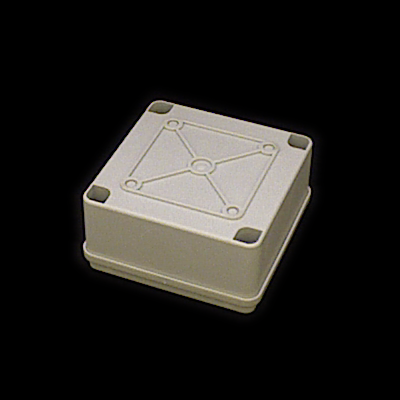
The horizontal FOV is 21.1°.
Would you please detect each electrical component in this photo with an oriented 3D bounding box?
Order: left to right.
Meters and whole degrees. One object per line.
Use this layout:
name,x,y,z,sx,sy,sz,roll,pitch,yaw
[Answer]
electrical component,0.000,0.000,0.634,0.108,0.057,0.108,16,43,15
